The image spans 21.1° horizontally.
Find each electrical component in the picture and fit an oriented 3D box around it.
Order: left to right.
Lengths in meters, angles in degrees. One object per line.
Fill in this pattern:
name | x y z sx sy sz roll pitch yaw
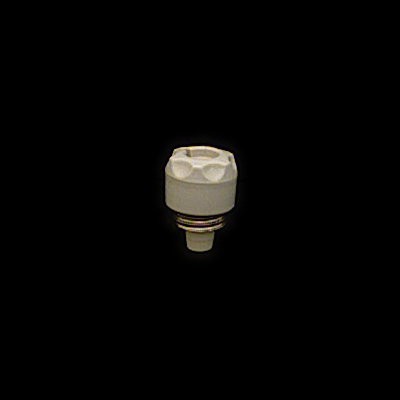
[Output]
electrical component | 0.000 0.000 0.646 0.043 0.063 0.043 2 22 0
